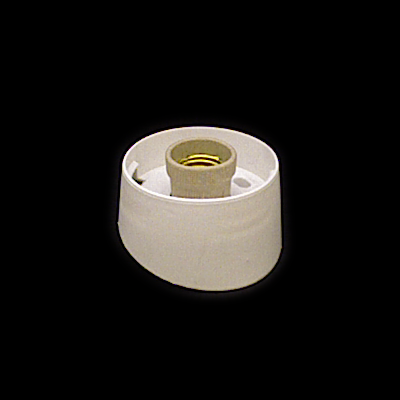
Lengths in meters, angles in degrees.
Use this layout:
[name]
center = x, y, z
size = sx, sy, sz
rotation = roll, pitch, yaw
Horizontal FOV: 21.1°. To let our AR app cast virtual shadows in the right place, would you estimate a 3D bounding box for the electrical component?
[electrical component]
center = 0.000, 0.000, 0.633
size = 0.099, 0.065, 0.097
rotation = 1, 32, 0
